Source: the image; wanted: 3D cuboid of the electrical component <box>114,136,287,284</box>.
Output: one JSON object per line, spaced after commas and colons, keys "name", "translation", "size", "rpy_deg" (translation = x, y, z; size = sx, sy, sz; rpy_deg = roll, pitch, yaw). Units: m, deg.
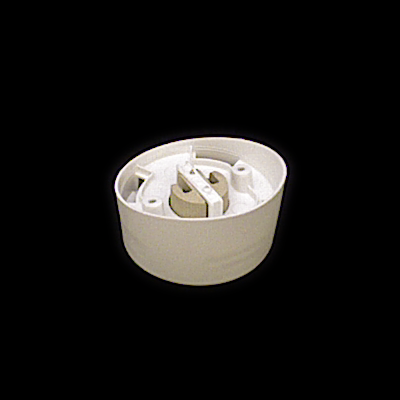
{"name": "electrical component", "translation": [0.000, 0.000, 0.629], "size": [0.099, 0.065, 0.098], "rpy_deg": [1, 42, -1]}
